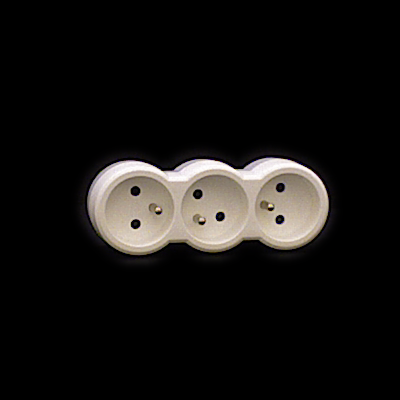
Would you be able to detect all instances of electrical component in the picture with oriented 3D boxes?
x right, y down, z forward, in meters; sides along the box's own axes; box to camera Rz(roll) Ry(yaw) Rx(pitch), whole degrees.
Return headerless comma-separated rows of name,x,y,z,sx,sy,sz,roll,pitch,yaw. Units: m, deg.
electrical component,0.000,0.000,0.644,0.138,0.052,0.073,-2,9,-13
